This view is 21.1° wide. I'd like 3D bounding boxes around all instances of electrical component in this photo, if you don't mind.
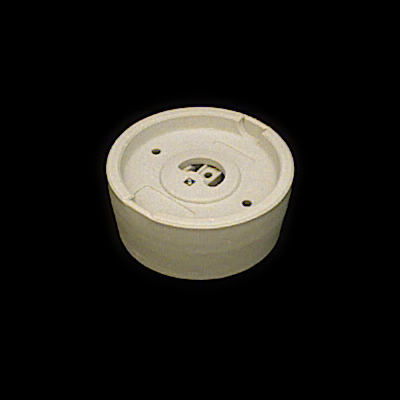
[{"bbox_3d":[0.000,0.000,0.635,0.108,0.061,0.107,1,42,0],"label":"electrical component"}]
